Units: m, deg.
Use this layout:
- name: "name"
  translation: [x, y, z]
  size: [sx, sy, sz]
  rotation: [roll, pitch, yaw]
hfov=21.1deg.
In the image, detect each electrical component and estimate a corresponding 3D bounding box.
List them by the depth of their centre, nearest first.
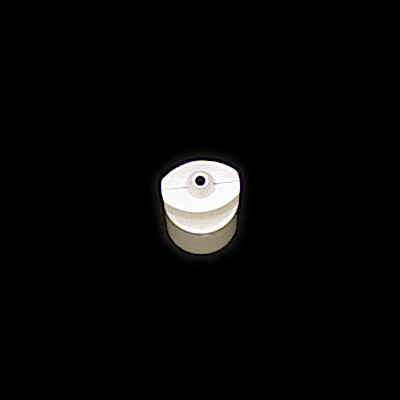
- name: "electrical component"
  translation: [0.000, 0.000, 0.616]
  size: [0.043, 0.043, 0.080]
  rotation: [0, -17, 1]
